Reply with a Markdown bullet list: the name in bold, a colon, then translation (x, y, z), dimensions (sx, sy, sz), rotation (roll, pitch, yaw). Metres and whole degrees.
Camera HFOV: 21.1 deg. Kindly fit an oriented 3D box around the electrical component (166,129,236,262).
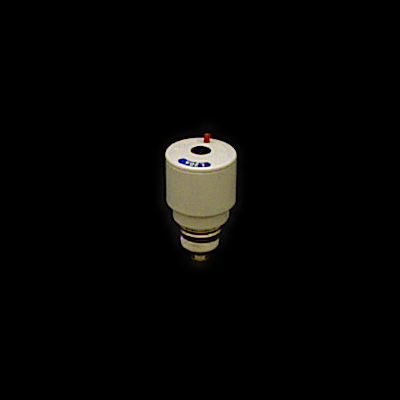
- **electrical component**: translation (0.000, 0.000, 0.631), dimensions (0.040, 0.079, 0.039), rotation (1, 30, 0)
